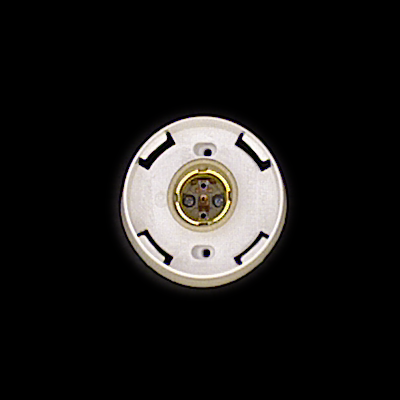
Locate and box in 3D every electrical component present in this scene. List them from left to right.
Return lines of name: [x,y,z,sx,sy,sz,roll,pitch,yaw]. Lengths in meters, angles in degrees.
electrical component: [0.000,0.000,0.625,0.099,0.099,0.064,0,-7,1]
